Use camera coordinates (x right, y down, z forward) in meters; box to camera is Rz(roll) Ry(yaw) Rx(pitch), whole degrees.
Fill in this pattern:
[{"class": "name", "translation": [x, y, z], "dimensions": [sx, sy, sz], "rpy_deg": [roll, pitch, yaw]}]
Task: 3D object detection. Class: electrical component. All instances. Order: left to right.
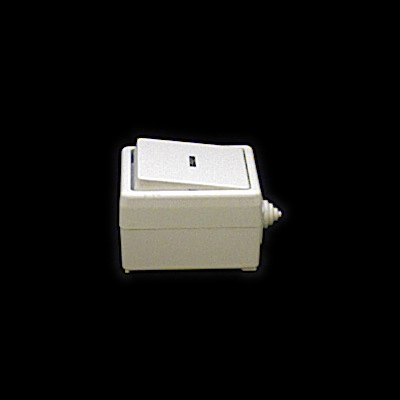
[{"class": "electrical component", "translation": [0.000, 0.000, 0.634], "dimensions": [0.096, 0.061, 0.061], "rpy_deg": [-1, 31, -3]}]
